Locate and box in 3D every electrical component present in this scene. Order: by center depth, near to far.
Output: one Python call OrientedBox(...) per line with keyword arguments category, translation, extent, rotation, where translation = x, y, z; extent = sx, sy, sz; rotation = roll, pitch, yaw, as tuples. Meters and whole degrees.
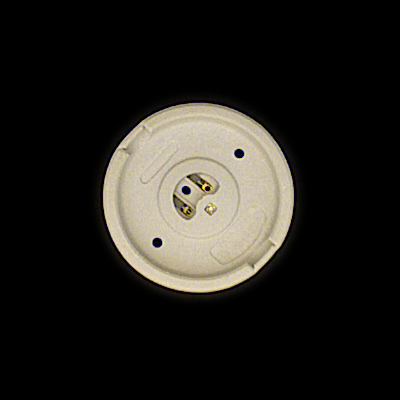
OrientedBox(category="electrical component", translation=(0.000, 0.000, 0.635), extent=(0.108, 0.108, 0.060), rotation=(0, -6, 0))
